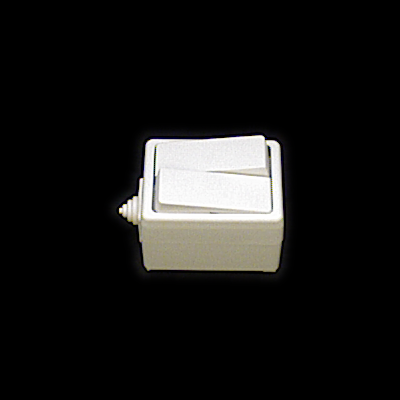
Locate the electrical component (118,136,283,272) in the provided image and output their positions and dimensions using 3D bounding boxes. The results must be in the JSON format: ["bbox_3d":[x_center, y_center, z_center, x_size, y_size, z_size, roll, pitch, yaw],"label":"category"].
[{"bbox_3d":[0.000,0.000,0.628,0.096,0.061,0.061,1,-38,0],"label":"electrical component"}]
